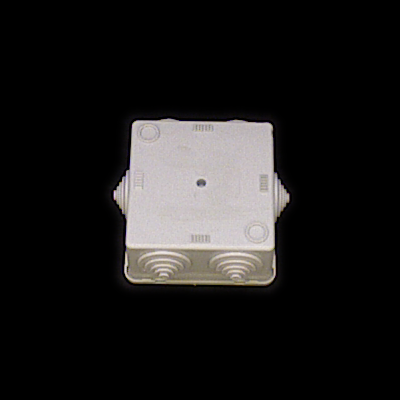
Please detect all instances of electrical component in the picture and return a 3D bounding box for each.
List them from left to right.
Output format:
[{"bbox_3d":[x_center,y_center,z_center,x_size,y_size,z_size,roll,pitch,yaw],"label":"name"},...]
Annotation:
[{"bbox_3d":[0.000,0.000,0.631,0.100,0.100,0.048,1,-27,0],"label":"electrical component"}]
